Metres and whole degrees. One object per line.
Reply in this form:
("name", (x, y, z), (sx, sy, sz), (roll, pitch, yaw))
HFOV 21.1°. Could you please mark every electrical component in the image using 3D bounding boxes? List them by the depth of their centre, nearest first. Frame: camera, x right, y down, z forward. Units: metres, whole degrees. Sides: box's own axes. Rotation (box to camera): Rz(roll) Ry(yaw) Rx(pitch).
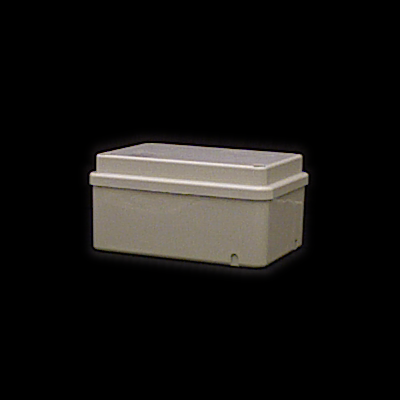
("electrical component", (0.000, 0.000, 0.641), (0.113, 0.057, 0.078), (6, 11, 22))
